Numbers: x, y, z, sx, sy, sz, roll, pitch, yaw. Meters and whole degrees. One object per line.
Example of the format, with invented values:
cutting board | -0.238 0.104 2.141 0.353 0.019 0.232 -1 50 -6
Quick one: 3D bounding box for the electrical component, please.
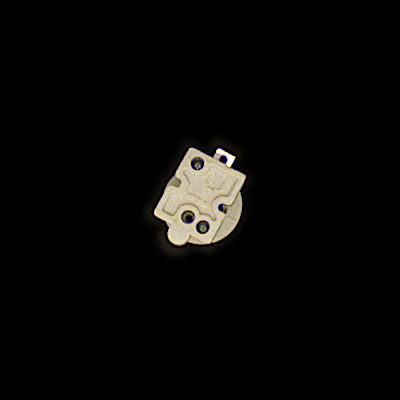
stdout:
electrical component | 0.000 0.000 0.638 0.048 0.067 0.055 29 -6 5
